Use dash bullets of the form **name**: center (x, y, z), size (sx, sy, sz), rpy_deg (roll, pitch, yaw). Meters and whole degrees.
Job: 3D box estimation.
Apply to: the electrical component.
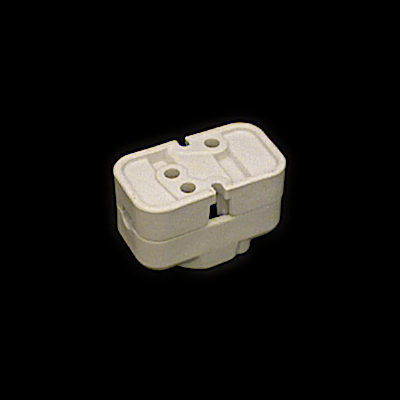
- **electrical component**: center (0.000, 0.000, 0.637), size (0.095, 0.060, 0.053), rpy_deg (-18, 46, -20)
